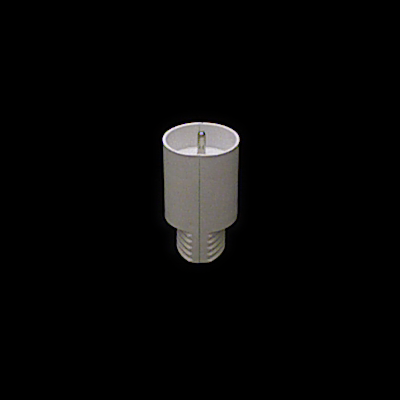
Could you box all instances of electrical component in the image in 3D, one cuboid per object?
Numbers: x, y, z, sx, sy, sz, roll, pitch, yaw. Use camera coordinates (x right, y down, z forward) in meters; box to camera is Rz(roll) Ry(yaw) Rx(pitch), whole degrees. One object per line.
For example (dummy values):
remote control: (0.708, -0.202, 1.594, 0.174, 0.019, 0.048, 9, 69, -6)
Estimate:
electrical component: (0.000, 0.000, 0.629, 0.043, 0.082, 0.042, 1, 31, 0)
